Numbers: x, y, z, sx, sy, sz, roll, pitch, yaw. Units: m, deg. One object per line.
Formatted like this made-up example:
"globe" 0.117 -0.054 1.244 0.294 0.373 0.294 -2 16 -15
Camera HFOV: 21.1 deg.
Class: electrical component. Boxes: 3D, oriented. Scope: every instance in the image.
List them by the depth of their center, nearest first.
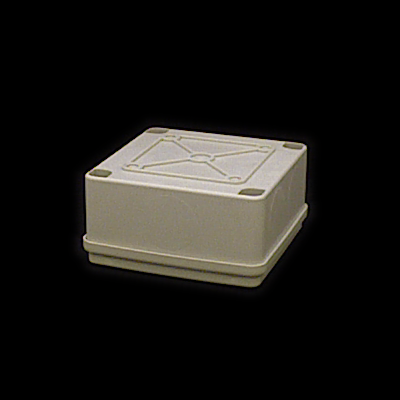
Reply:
"electrical component" 0.000 0.000 0.637 0.108 0.057 0.108 7 22 18
